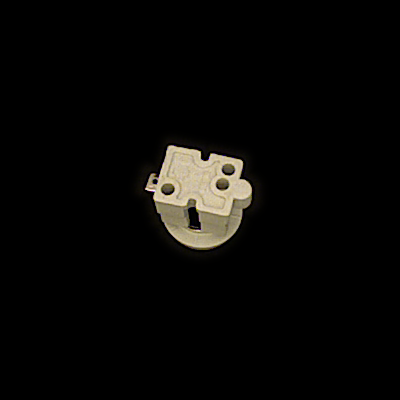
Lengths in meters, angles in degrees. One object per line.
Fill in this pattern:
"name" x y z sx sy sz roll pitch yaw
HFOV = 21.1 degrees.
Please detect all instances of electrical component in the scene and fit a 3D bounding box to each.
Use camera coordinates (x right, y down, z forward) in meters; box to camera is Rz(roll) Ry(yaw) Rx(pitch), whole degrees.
"electrical component" 0.000 0.000 0.638 0.066 0.048 0.055 13 -25 7
